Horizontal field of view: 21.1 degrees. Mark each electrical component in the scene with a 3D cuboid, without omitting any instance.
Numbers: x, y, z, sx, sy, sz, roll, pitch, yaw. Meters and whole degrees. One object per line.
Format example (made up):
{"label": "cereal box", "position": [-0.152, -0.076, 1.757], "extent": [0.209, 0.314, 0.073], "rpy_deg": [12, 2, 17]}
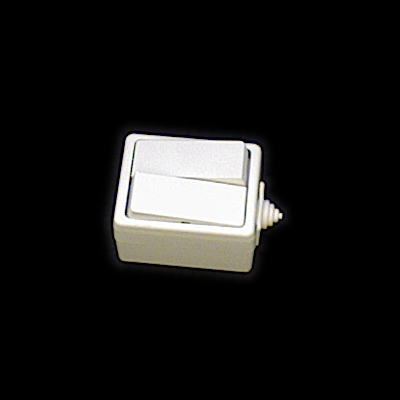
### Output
{"label": "electrical component", "position": [0.000, 0.000, 0.627], "extent": [0.096, 0.062, 0.061], "rpy_deg": [5, -28, 3]}
